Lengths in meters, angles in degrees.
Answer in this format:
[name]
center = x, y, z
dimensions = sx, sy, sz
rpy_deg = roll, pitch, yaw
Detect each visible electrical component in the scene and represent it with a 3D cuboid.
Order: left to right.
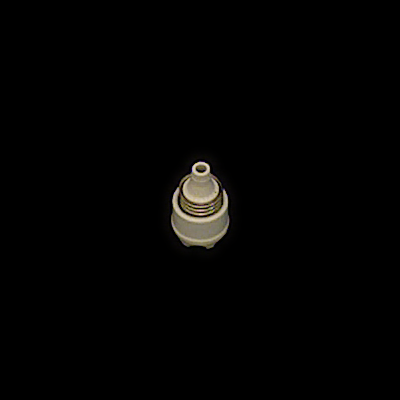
[electrical component]
center = 0.000, 0.000, 0.640
dimensions = 0.035, 0.035, 0.062
rpy_deg = 0, -38, -2
